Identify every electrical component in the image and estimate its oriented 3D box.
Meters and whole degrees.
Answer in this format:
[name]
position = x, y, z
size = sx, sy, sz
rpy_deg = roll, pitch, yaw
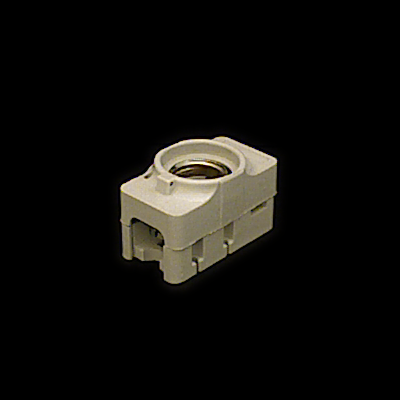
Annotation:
[electrical component]
position = 0.000, 0.000, 0.643
size = 0.049, 0.056, 0.090
rpy_deg = 26, 40, 34
